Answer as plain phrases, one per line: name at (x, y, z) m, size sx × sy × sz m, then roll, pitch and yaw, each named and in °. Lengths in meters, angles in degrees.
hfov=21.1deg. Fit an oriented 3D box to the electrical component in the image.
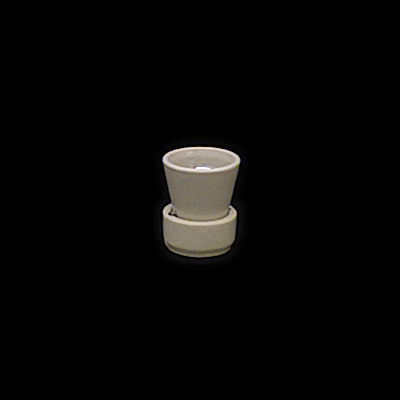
electrical component at (0.000, 0.000, 0.639) m, size 0.045 × 0.056 × 0.044 m, roll 1°, pitch 22°, yaw 0°
